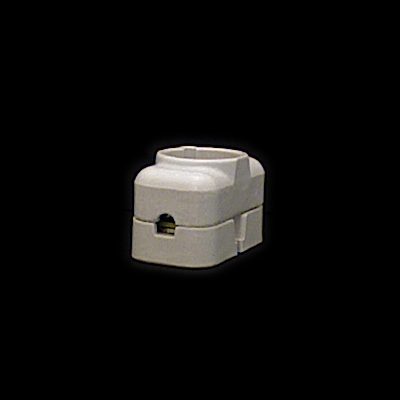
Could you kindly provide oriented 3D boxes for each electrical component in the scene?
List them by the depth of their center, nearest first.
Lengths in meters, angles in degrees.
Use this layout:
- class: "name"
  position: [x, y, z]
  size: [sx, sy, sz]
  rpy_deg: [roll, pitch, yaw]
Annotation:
- class: "electrical component"
  position: [0.000, 0.000, 0.651]
  size: [0.053, 0.060, 0.095]
  rpy_deg: [7, 12, 24]
